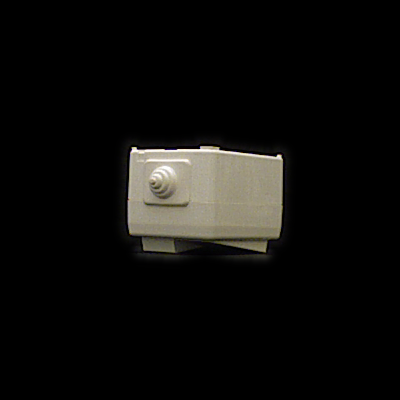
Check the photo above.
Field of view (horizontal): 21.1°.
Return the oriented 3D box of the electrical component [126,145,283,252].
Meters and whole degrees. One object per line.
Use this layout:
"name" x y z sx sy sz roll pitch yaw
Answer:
"electrical component" 0.000 0.000 0.642 0.061 0.061 0.096 2 0 35
